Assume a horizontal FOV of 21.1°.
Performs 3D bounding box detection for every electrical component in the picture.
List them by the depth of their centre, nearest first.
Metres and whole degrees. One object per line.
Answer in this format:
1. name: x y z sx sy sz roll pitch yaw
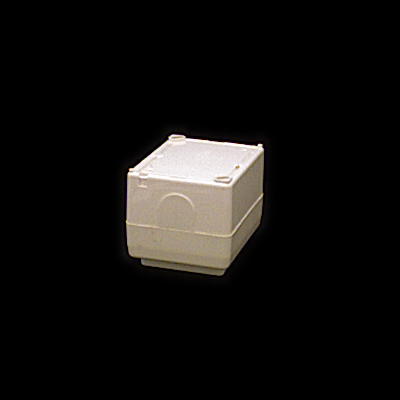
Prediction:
1. electrical component: 0.000 0.000 0.640 0.061 0.061 0.095 7 21 15
